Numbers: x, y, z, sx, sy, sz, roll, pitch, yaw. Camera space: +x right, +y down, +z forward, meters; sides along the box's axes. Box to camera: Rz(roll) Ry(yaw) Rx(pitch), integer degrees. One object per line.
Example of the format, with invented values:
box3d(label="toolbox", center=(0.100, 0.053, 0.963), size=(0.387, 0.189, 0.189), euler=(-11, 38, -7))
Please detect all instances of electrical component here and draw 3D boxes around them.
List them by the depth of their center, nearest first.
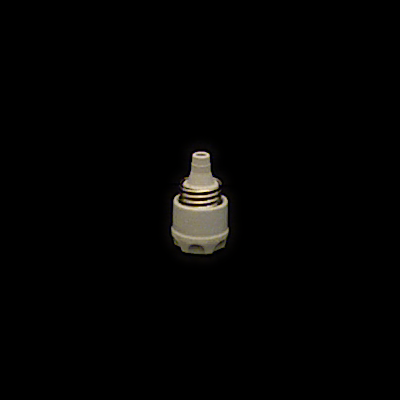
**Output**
box3d(label="electrical component", center=(0.000, 0.000, 0.653), size=(0.035, 0.062, 0.034), euler=(1, 24, 0))
